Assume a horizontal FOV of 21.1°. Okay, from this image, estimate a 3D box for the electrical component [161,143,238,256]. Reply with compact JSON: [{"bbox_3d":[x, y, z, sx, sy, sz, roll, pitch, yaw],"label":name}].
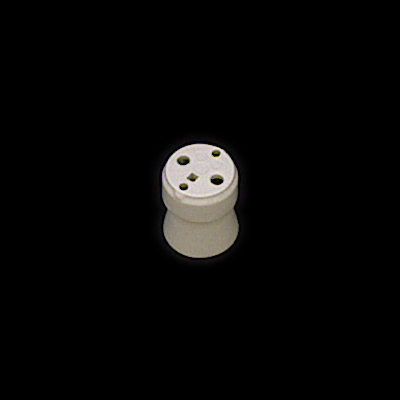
[{"bbox_3d":[0.000,0.000,0.630,0.045,0.044,0.055,0,-38,0],"label":"electrical component"}]
